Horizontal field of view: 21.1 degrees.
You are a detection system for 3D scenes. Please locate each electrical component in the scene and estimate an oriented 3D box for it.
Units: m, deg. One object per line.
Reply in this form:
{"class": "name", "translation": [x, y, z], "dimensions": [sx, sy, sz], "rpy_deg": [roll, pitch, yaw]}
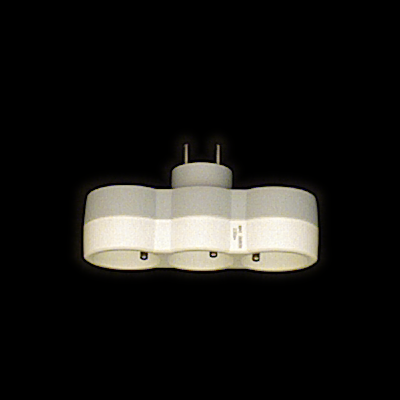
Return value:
{"class": "electrical component", "translation": [0.000, 0.000, 0.639], "dimensions": [0.138, 0.074, 0.052], "rpy_deg": [1, -18, 0]}
